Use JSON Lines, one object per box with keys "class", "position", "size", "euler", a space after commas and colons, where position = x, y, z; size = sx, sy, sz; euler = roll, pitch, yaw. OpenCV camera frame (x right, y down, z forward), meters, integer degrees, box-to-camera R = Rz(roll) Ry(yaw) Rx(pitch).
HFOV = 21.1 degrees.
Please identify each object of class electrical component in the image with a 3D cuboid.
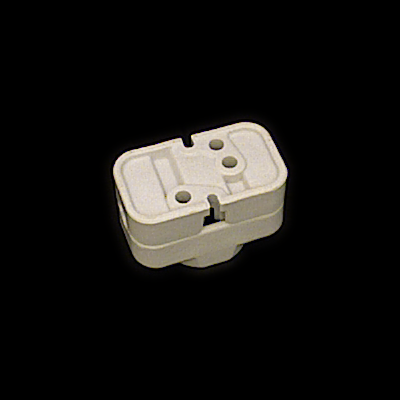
{"class": "electrical component", "position": [0.000, 0.000, 0.637], "size": [0.095, 0.053, 0.059], "euler": [-16, -36, -11]}
